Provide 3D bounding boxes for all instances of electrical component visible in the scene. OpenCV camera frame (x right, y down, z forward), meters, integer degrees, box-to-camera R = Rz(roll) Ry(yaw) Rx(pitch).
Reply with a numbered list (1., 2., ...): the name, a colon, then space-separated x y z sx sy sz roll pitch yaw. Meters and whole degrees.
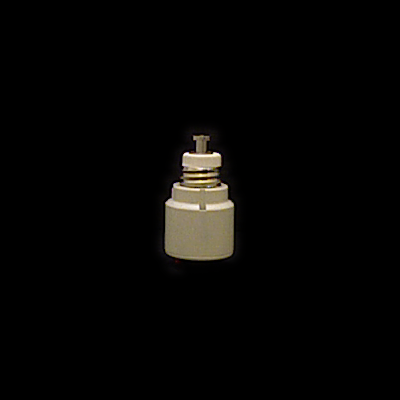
1. electrical component: 0.000 0.000 0.644 0.040 0.079 0.040 2 12 0
